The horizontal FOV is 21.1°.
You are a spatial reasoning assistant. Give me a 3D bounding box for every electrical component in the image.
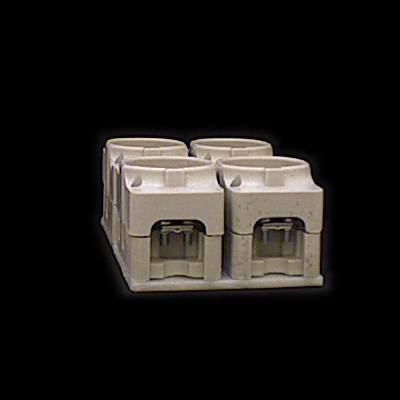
[{"bbox_3d":[0.000,0.000,0.644,0.105,0.061,0.184,-1,10,-10],"label":"electrical component"}]
